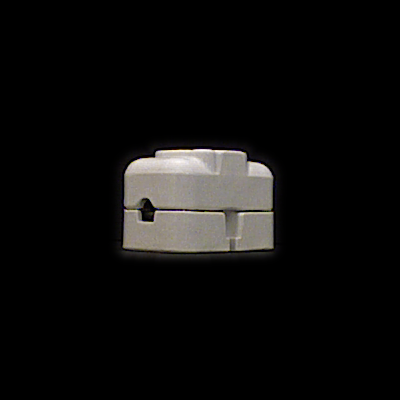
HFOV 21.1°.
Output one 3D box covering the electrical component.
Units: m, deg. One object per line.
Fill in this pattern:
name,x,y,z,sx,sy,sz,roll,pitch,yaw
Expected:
electrical component,0.000,0.000,0.656,0.053,0.059,0.096,2,1,41
